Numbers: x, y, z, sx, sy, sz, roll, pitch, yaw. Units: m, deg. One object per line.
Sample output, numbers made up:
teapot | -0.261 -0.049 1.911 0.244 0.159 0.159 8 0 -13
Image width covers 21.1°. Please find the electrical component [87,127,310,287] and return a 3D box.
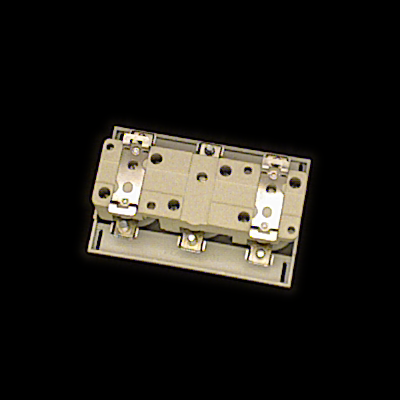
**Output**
electrical component | 0.000 0.000 0.633 0.121 0.079 0.062 10 -15 3
